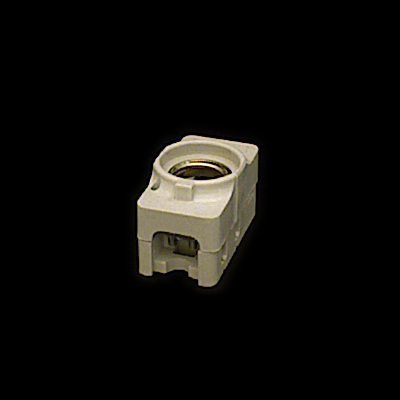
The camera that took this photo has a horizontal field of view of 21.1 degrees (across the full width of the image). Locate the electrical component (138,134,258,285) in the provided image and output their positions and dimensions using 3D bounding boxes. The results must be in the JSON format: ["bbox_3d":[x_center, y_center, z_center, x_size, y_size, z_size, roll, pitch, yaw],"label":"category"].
[{"bbox_3d":[0.000,0.000,0.642,0.050,0.056,0.089,10,33,14],"label":"electrical component"}]
